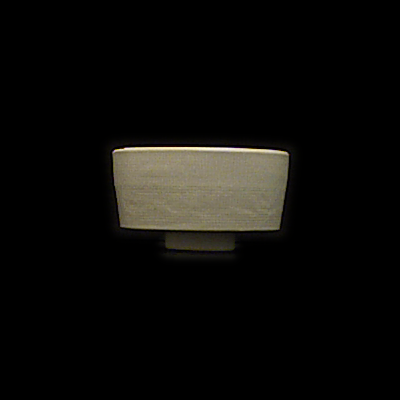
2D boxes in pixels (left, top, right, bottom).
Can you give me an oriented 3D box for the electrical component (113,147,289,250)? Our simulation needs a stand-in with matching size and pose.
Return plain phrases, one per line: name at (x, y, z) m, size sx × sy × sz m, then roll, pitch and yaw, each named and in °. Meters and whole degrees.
electrical component at (0.000, 0.000, 0.660) m, size 0.108 × 0.060 × 0.108 m, roll 1°, pitch 1°, yaw 0°
